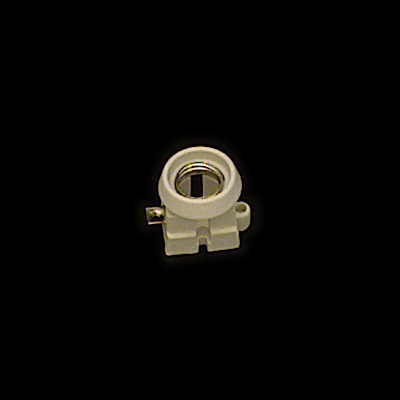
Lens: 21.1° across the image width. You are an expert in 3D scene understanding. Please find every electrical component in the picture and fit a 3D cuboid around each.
[{"bbox_3d":[0.000,0.000,0.637,0.067,0.048,0.055,-7,-39,-6],"label":"electrical component"}]
